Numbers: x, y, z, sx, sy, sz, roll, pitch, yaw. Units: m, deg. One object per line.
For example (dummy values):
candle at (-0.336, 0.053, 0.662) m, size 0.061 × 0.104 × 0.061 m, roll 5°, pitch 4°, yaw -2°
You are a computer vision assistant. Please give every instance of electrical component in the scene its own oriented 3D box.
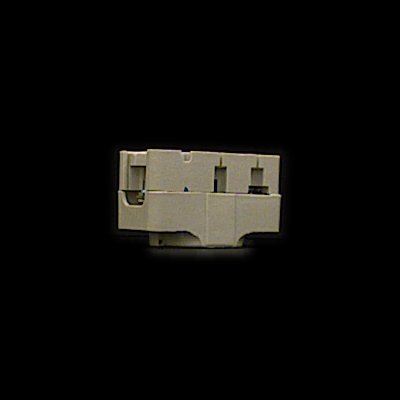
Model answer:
electrical component at (0.000, 0.000, 0.656) m, size 0.090 × 0.056 × 0.050 m, roll 0°, pitch 2°, yaw -31°
